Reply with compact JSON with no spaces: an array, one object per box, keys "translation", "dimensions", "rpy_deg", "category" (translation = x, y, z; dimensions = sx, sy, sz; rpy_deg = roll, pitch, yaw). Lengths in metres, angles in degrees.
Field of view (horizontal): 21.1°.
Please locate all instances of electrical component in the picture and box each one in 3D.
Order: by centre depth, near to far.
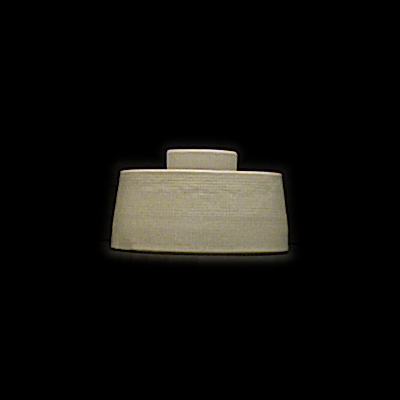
[{"translation":[0.000,0.000,0.655],"dimensions":[0.108,0.060,0.108],"rpy_deg":[2,1,1],"category":"electrical component"}]
